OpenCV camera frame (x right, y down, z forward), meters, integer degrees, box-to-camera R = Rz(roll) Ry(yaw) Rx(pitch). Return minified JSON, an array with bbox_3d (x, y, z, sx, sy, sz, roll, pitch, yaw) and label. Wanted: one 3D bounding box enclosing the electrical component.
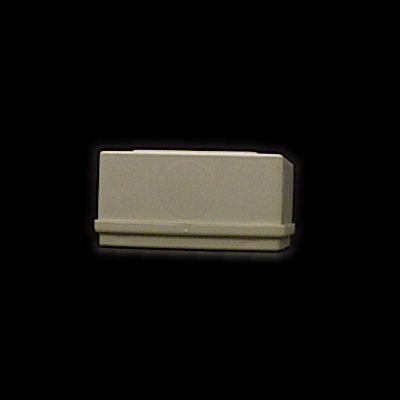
[{"bbox_3d":[0.000,0.000,0.652,0.108,0.056,0.109,2,0,8],"label":"electrical component"}]
